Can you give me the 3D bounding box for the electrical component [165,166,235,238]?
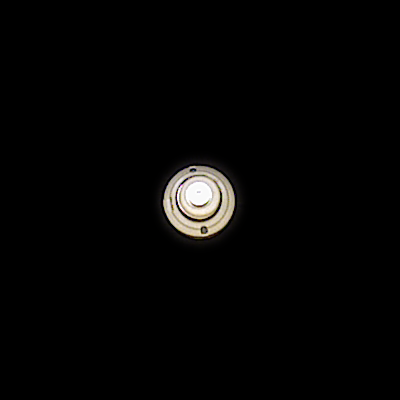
[{"bbox_3d":[0.000,0.000,0.618,0.040,0.040,0.078,0,-5,0],"label":"electrical component"}]
